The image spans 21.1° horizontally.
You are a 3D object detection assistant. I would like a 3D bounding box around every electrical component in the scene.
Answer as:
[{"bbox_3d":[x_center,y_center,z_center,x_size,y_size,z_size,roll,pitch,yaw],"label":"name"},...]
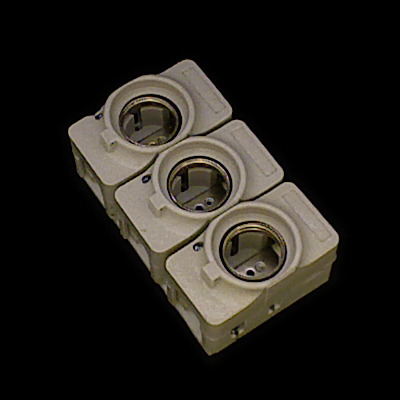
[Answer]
[{"bbox_3d":[0.000,0.000,0.631,0.089,0.149,0.062,-32,-23,-15],"label":"electrical component"}]
